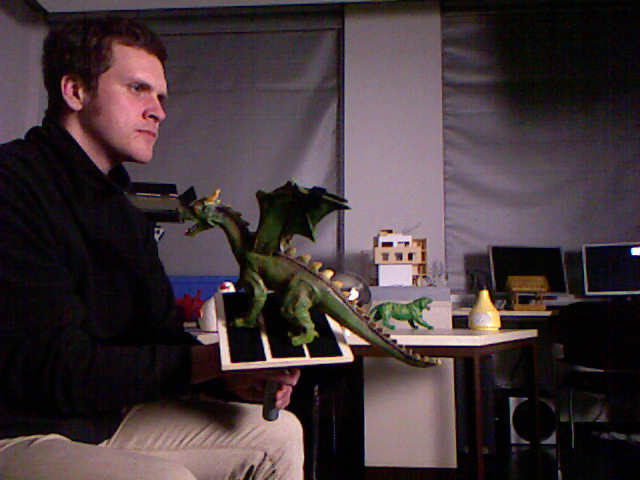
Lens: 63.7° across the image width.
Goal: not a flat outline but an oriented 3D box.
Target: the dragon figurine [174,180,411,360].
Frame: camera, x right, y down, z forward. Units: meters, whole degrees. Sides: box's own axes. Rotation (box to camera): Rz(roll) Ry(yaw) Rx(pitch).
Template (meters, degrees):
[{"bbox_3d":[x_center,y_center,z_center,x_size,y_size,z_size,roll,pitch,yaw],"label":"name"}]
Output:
[{"bbox_3d":[-0.039,0.029,0.802,0.412,0.238,0.125,15,29,14],"label":"dragon figurine"}]
